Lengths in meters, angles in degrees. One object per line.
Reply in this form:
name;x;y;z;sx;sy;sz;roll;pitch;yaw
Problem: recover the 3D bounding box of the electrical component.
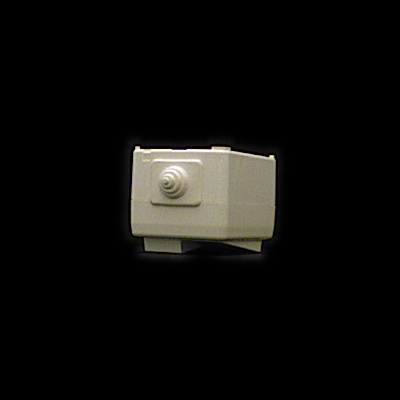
electrical component;0.000;0.000;0.642;0.061;0.061;0.096;2;0;25
